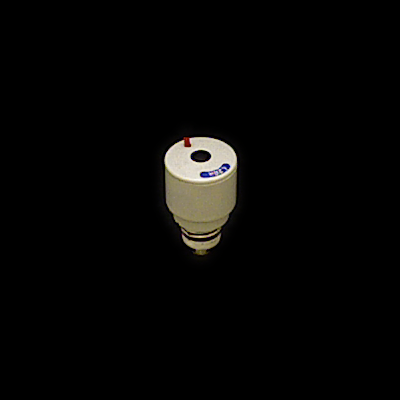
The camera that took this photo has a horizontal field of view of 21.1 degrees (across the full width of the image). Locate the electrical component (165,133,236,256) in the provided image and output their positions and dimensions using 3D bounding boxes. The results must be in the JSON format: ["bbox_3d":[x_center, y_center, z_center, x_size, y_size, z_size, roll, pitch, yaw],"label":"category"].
[{"bbox_3d":[0.000,0.000,0.626,0.040,0.079,0.039,0,41,0],"label":"electrical component"}]
